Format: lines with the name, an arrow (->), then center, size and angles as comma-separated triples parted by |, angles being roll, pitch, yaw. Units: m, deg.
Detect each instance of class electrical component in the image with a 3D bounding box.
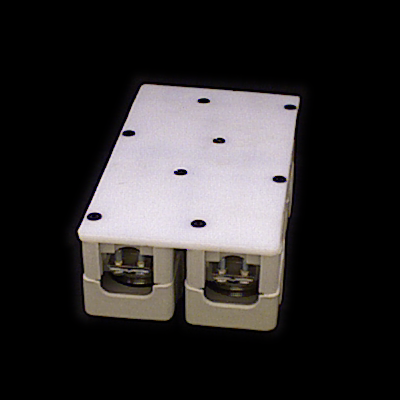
electrical component -> 0.000, 0.000, 0.634 | 0.105, 0.061, 0.184 | 5, 32, 6
